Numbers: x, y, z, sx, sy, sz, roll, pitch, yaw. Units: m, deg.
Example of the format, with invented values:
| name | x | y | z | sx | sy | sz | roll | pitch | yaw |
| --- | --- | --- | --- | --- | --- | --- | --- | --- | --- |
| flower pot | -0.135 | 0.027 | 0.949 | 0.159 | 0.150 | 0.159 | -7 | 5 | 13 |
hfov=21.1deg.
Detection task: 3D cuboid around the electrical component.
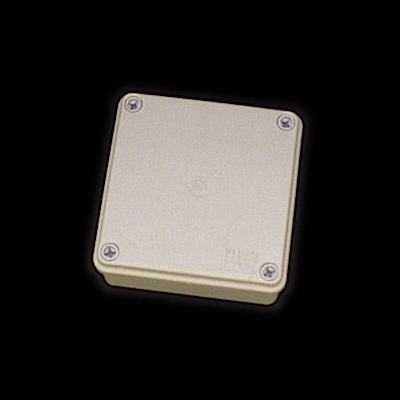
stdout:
| name | x | y | z | sx | sy | sz | roll | pitch | yaw |
| --- | --- | --- | --- | --- | --- | --- | --- | --- | --- |
| electrical component | 0.000 | 0.000 | 0.630 | 0.109 | 0.109 | 0.056 | 7 | -17 | 2 |
